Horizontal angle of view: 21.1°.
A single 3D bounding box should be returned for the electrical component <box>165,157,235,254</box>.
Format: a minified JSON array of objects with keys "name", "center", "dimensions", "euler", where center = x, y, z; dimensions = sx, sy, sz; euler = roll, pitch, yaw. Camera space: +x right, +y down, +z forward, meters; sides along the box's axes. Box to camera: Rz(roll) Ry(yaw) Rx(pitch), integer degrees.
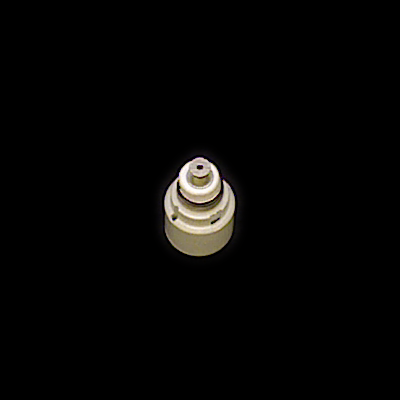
[{"name":"electrical component","center":[0.000,0.000,0.618],"dimensions":[0.040,0.040,0.078],"euler":[0,-28,-1]}]
